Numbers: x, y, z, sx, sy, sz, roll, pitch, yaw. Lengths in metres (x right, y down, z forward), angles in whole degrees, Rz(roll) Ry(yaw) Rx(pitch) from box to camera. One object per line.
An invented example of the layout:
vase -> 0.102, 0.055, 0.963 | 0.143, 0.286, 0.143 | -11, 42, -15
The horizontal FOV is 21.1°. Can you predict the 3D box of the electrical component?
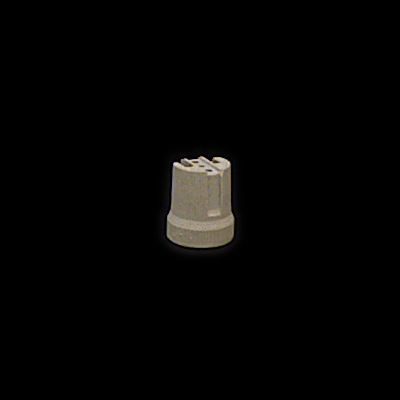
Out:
electrical component -> 0.000, 0.000, 0.643 | 0.040, 0.046, 0.040 | 2, 22, 0
